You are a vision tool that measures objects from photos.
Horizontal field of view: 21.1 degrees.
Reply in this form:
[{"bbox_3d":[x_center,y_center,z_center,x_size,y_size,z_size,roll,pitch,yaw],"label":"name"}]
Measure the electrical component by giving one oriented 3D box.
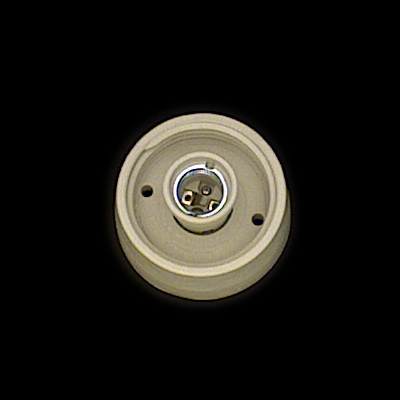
[{"bbox_3d":[0.000,0.000,0.634,0.108,0.108,0.060,0,-16,0],"label":"electrical component"}]
